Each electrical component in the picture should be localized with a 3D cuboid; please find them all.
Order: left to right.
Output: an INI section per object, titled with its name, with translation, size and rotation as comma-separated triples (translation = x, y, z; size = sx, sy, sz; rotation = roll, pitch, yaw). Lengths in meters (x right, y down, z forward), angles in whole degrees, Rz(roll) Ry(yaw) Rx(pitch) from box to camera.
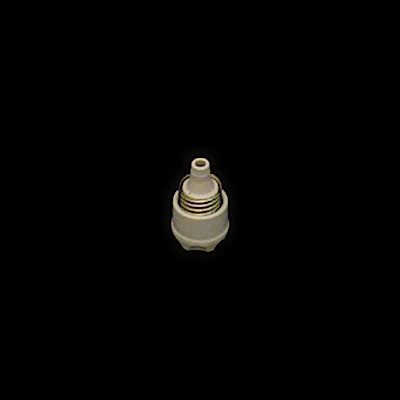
[electrical component]
translation = 0.000, 0.000, 0.644
size = 0.035, 0.062, 0.034
rotation = 0, 44, 0
